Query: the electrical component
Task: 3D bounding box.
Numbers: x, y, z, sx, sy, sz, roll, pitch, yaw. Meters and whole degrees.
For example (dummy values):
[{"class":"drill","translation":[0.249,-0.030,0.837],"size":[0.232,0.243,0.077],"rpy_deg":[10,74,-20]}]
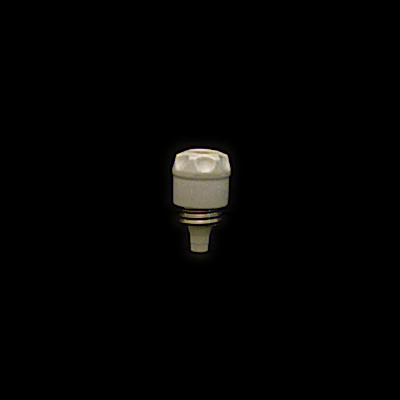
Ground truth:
[{"class":"electrical component","translation":[0.000,0.000,0.650],"size":[0.035,0.062,0.035],"rpy_deg":[1,12,0]}]
